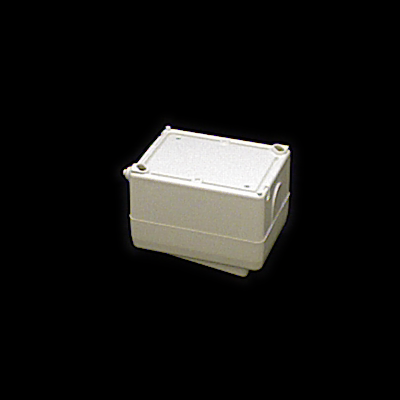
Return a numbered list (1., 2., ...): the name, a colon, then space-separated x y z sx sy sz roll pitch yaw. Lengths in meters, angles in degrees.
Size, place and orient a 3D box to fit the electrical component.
1. electrical component: 0.000 0.000 0.634 0.096 0.061 0.061 11 33 15
